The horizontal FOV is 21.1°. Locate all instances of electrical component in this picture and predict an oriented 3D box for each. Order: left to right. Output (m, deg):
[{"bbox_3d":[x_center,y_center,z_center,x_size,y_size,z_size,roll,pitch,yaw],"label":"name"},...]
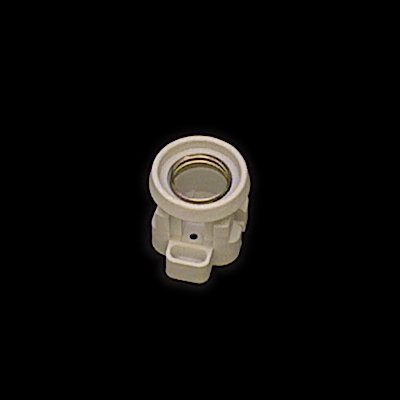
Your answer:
[{"bbox_3d":[0.000,0.000,0.630,0.058,0.078,0.057,10,-37,7],"label":"electrical component"}]
